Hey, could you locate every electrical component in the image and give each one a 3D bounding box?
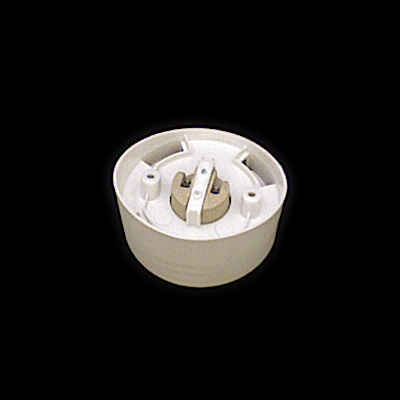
[{"bbox_3d":[0.000,0.000,0.625,0.099,0.098,0.064,0,-37,-1],"label":"electrical component"}]
